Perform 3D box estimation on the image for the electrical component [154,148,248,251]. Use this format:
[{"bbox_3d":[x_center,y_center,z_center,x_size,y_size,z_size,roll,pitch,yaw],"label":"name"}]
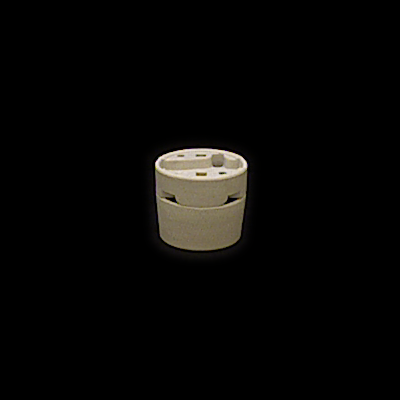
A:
[{"bbox_3d":[0.000,0.000,0.641,0.055,0.047,0.055,1,21,0],"label":"electrical component"}]
